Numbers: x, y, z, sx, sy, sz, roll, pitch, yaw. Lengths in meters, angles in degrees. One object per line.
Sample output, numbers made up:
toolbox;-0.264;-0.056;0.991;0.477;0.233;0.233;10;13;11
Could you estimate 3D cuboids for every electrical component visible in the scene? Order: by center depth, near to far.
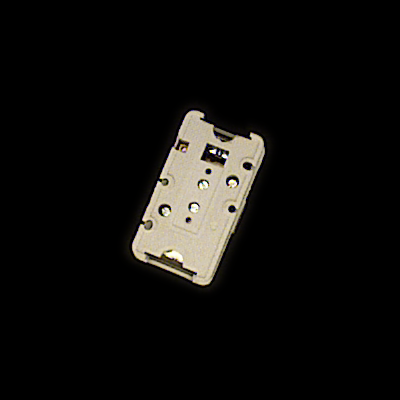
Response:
electrical component;0.000;0.000;0.637;0.050;0.090;0.055;22;-6;3
